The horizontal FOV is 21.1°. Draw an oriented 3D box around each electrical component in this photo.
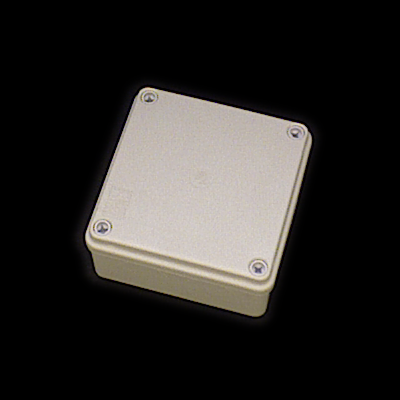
[{"bbox_3d":[0.000,0.000,0.630,0.108,0.109,0.056,14,-27,7],"label":"electrical component"}]
